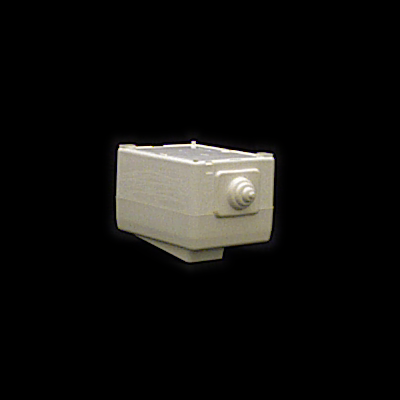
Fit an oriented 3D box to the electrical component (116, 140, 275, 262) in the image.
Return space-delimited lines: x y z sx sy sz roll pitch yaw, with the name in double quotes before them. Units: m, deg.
"electrical component" 0.000 0.000 0.640 0.061 0.061 0.096 -6 12 -38
